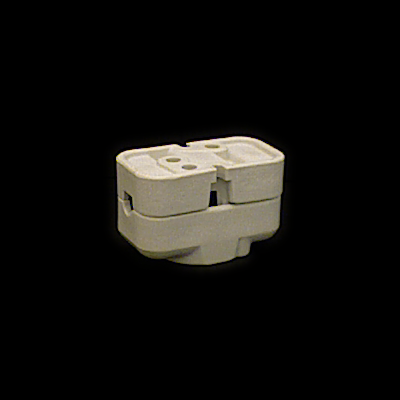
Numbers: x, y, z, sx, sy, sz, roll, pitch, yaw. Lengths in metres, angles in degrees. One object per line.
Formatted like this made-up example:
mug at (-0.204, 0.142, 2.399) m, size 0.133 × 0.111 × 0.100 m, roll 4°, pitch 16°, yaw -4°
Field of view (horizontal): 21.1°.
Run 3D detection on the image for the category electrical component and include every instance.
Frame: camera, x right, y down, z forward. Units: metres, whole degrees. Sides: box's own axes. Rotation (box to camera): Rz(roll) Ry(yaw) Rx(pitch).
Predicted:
electrical component at (0.000, 0.000, 0.645) m, size 0.095 × 0.060 × 0.053 m, roll -9°, pitch 24°, yaw -26°
